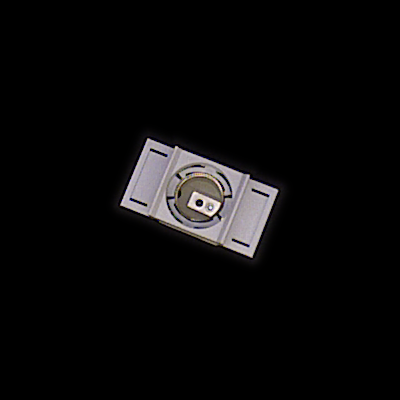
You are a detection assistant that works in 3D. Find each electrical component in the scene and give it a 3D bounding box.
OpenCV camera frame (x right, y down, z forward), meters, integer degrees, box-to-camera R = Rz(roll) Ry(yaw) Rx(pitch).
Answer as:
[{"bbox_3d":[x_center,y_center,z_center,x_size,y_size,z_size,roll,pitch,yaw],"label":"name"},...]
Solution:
[{"bbox_3d":[0.000,0.000,0.625,0.081,0.042,0.063,22,-7,3],"label":"electrical component"}]
